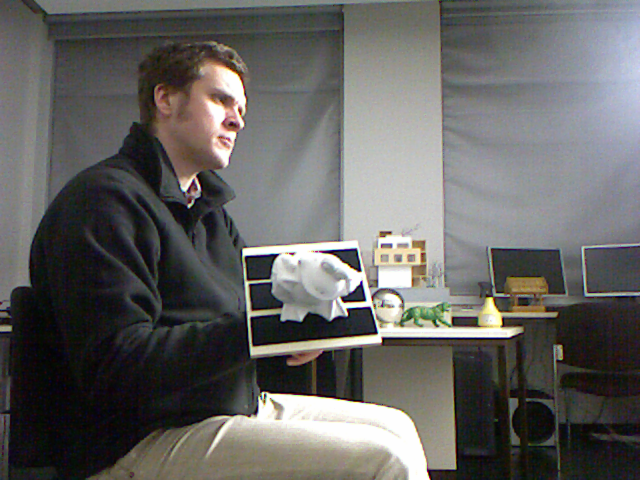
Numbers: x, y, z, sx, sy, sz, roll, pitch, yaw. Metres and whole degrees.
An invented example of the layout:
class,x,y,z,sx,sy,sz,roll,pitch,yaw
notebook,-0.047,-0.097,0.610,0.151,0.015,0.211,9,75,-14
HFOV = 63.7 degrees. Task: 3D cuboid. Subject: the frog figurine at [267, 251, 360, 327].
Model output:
class,x,y,z,sx,sy,sz,roll,pitch,yaw
frog figurine,-0.008,0.052,0.765,0.138,0.126,0.156,12,-38,2
